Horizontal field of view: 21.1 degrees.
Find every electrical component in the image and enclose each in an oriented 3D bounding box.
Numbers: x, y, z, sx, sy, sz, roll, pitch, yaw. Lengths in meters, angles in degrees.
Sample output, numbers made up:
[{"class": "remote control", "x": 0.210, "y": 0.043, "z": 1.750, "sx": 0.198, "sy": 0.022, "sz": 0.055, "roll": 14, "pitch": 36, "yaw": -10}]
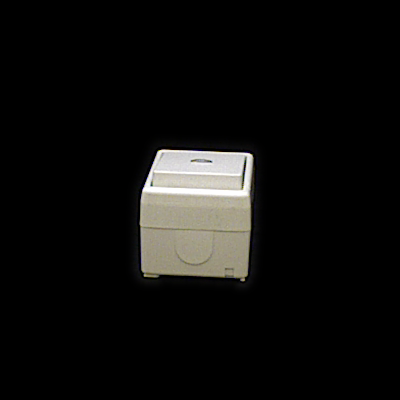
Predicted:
[{"class": "electrical component", "x": 0.000, "y": 0.000, "z": 0.641, "sx": 0.062, "sy": 0.061, "sz": 0.095, "roll": 2, "pitch": 21, "yaw": 4}]
